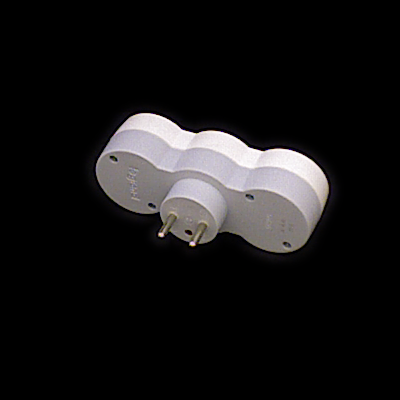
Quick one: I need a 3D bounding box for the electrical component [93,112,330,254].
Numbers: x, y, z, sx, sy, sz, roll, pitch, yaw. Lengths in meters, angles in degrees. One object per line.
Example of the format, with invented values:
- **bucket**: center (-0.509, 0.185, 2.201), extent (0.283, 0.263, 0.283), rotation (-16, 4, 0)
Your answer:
- **electrical component**: center (0.000, 0.000, 0.633), extent (0.138, 0.052, 0.073), rotation (16, 46, 15)
